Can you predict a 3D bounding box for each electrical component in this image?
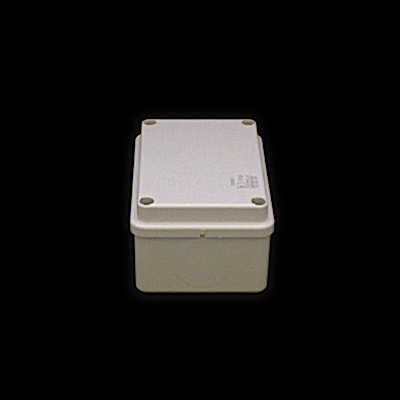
[{"bbox_3d":[0.000,0.000,0.635,0.078,0.058,0.111,0,31,-2],"label":"electrical component"}]
